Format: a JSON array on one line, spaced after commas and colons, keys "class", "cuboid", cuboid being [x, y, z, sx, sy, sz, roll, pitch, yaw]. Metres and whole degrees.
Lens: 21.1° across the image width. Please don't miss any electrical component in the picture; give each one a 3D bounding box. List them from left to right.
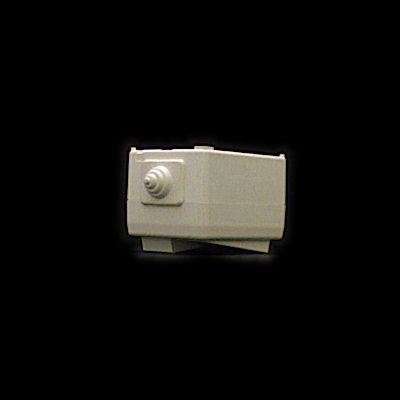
[{"class": "electrical component", "cuboid": [0.000, 0.000, 0.643, 0.061, 0.061, 0.096, 2, 0, 40]}]
